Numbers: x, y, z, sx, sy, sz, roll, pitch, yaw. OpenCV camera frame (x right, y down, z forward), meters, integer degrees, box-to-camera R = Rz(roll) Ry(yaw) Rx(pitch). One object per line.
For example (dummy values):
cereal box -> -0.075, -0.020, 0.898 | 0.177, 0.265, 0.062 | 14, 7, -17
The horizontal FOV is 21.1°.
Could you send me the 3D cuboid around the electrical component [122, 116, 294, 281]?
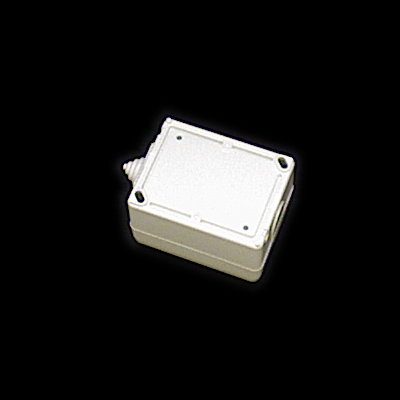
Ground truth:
electrical component -> 0.000, 0.000, 0.627 | 0.096, 0.062, 0.061 | 19, -25, 9
